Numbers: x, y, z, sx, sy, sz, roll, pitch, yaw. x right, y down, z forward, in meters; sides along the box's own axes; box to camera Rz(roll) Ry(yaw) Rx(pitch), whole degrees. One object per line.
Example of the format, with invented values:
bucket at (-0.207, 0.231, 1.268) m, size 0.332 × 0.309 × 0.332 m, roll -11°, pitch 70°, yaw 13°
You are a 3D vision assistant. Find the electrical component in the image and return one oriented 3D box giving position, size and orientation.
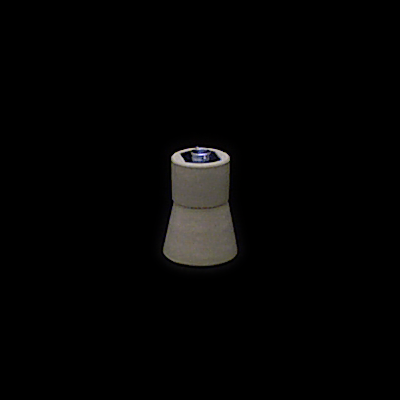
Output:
electrical component at (0.000, 0.000, 0.638) m, size 0.044 × 0.066 × 0.044 m, roll 0°, pitch 22°, yaw 0°
